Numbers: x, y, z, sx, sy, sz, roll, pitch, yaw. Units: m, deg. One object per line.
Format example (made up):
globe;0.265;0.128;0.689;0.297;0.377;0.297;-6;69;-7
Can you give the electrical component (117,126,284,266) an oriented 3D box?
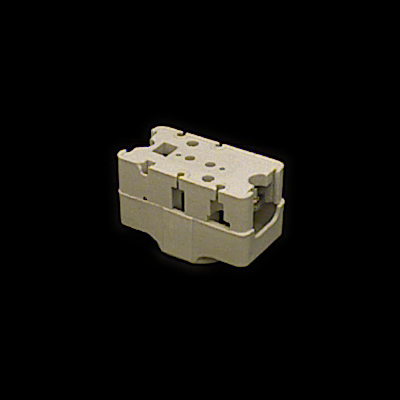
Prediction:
electrical component;0.000;0.000;0.642;0.088;0.056;0.050;18;37;26
